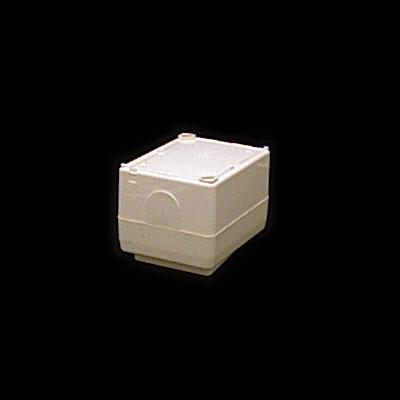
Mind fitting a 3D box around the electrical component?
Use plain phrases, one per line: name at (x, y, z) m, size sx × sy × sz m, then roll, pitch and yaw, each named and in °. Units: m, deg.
electrical component at (0.000, 0.000, 0.640) m, size 0.061 × 0.061 × 0.095 m, roll 11°, pitch 22°, yaw 25°
